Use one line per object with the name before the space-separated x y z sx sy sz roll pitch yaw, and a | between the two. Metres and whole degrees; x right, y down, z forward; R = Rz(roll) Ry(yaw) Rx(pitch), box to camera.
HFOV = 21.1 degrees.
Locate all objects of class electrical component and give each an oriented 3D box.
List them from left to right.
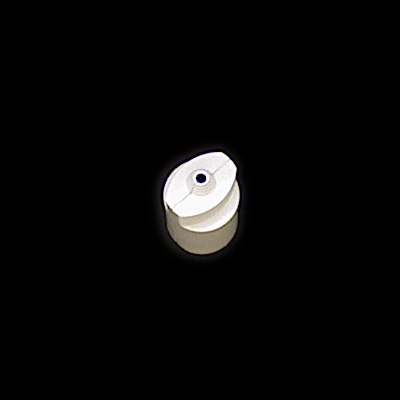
electrical component | 0.000 0.000 0.616 0.043 0.043 0.080 0 -17 0
